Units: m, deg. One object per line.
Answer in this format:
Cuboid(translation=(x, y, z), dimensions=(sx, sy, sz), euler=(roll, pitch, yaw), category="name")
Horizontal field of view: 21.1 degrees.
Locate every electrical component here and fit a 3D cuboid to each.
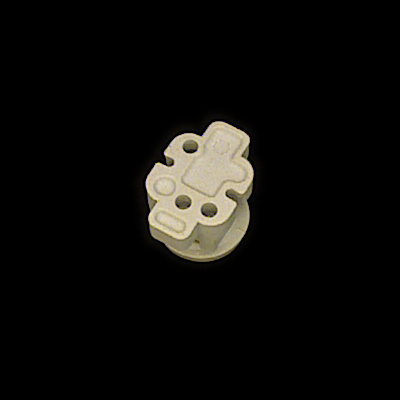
Cuboid(translation=(0.000, 0.000, 0.636), dimensions=(0.057, 0.079, 0.057), euler=(26, -25, 13), category="electrical component")
